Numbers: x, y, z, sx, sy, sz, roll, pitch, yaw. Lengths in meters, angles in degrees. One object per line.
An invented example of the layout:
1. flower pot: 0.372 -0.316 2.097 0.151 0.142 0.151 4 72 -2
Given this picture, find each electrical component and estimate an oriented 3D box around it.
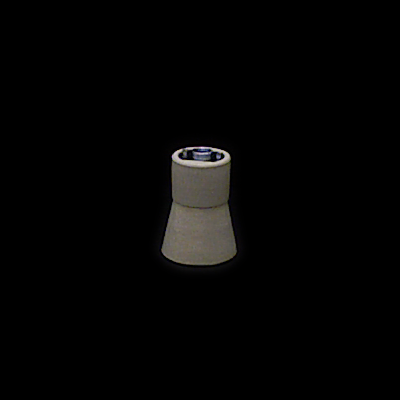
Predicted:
1. electrical component: 0.000 0.000 0.636 0.044 0.066 0.044 1 22 0
